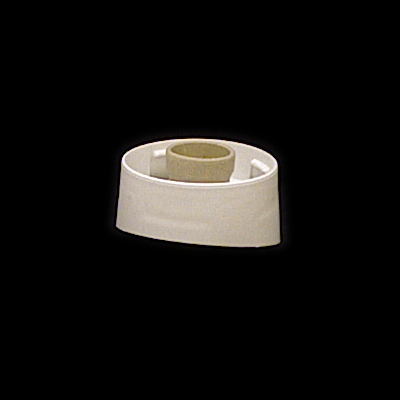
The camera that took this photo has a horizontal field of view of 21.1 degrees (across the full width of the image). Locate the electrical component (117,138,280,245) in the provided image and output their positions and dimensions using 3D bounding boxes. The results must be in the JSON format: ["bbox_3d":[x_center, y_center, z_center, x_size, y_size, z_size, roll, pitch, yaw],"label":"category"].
[{"bbox_3d":[0.000,0.000,0.638,0.099,0.065,0.097,1,20,0],"label":"electrical component"}]
